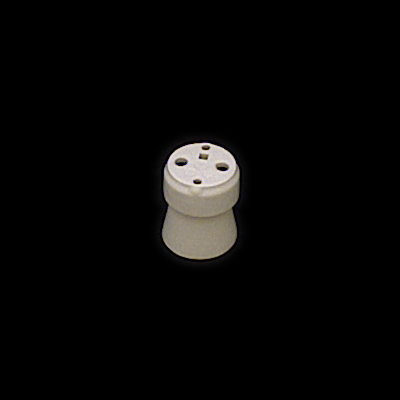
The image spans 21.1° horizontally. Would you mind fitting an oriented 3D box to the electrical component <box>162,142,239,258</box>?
[{"bbox_3d":[0.000,0.000,0.632,0.045,0.055,0.044,1,43,-1],"label":"electrical component"}]
